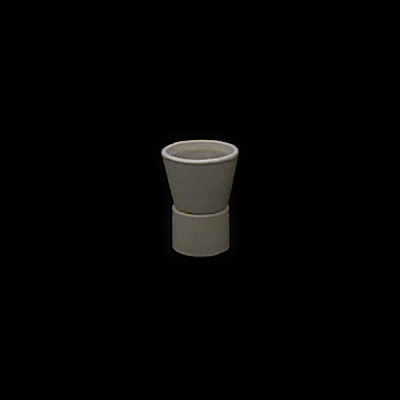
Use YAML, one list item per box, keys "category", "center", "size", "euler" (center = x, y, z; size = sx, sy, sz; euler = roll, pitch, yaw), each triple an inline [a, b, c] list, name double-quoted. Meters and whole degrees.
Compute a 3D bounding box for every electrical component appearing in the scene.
- category: "electrical component"
  center: [0.000, 0.000, 0.638]
  size: [0.044, 0.066, 0.044]
  euler: [0, 21, 0]
